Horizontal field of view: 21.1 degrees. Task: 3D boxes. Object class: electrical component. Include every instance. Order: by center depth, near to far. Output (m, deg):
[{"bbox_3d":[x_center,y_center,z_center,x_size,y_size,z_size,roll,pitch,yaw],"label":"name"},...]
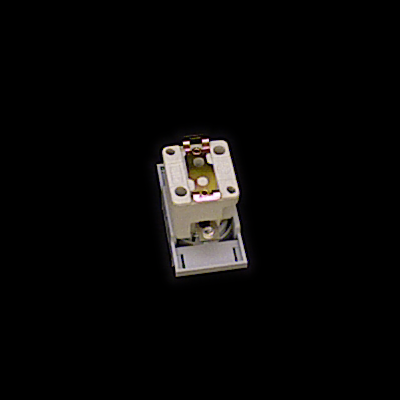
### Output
[{"bbox_3d":[0.000,0.000,0.627,0.042,0.080,0.064,-8,-37,-6],"label":"electrical component"}]
